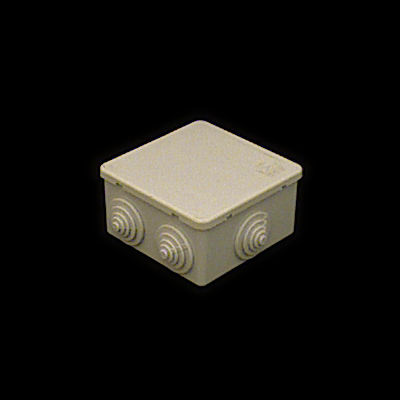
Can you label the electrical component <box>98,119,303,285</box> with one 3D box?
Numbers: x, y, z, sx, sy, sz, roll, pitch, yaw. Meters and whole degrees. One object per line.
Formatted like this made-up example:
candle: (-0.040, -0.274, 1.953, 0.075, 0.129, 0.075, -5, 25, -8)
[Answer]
electrical component: (0.000, 0.000, 0.645, 0.098, 0.049, 0.100, 28, 41, 36)
